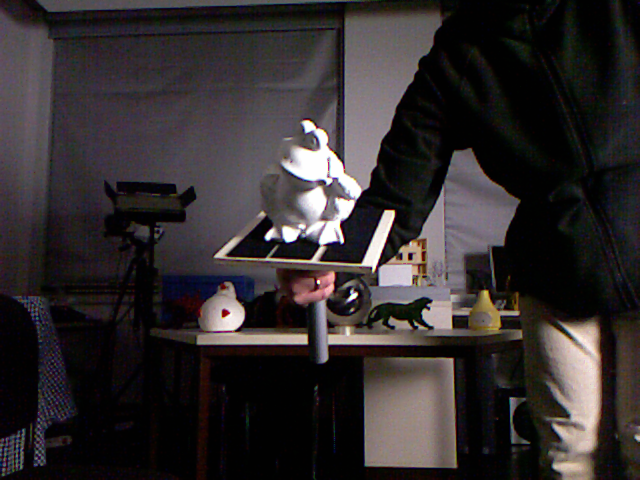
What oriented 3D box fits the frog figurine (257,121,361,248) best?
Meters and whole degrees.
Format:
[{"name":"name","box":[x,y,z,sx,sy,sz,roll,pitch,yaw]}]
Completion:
[{"name":"frog figurine","box":[-0.018,-0.078,0.663,0.138,0.157,0.125,11,26,28]}]
